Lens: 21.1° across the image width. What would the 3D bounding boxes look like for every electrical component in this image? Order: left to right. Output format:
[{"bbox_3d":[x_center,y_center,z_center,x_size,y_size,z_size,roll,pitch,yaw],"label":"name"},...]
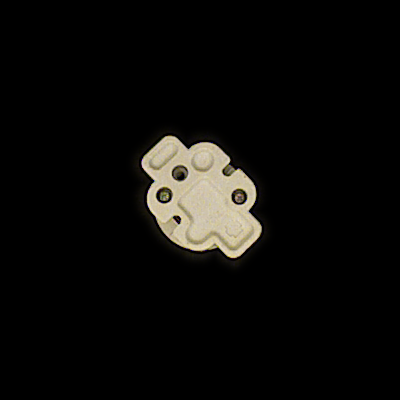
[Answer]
[{"bbox_3d":[0.000,0.000,0.637,0.058,0.078,0.056,-45,-3,-4],"label":"electrical component"}]
